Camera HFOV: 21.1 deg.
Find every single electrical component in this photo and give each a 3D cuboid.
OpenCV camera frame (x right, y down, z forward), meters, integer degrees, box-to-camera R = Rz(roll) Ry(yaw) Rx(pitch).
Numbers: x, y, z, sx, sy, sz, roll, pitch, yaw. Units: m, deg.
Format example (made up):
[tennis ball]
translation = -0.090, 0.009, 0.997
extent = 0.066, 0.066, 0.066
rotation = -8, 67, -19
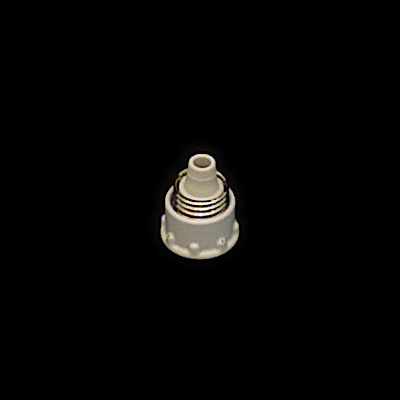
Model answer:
[electrical component]
translation = 0.000, 0.000, 0.638
extent = 0.048, 0.062, 0.047
rotation = 1, 43, -1
